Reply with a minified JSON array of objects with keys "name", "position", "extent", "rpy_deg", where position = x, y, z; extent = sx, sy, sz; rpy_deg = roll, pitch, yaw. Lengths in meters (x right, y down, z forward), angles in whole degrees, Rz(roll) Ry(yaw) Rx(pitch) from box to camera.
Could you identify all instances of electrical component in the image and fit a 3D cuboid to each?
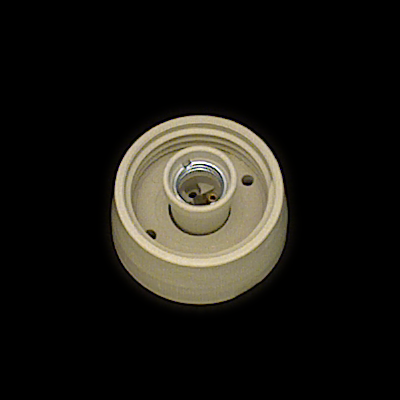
[{"name":"electrical component","position":[0.000,0.000,0.633],"extent":[0.108,0.108,0.060],"rpy_deg":[0,-27,0]}]
